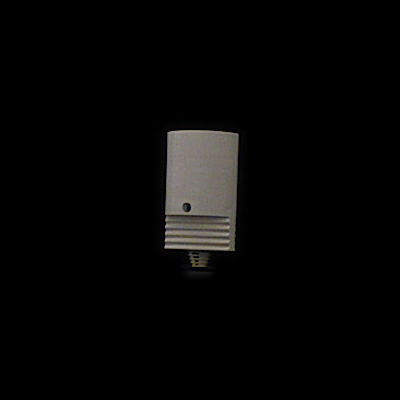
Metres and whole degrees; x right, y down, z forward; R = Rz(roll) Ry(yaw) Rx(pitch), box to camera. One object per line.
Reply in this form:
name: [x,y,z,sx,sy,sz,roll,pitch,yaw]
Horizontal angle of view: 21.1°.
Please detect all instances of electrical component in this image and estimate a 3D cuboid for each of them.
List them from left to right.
electrical component: [0.000,0.000,0.651,0.043,0.081,0.043,2,2,0]
